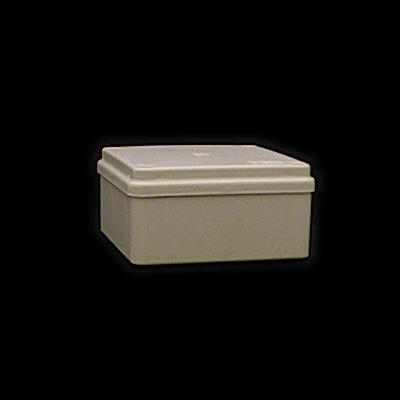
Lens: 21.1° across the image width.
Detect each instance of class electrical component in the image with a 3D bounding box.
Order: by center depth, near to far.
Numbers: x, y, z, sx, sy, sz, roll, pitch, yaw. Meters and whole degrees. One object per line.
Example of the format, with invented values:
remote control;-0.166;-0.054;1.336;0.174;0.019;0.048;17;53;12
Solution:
electrical component;0.000;0.000;0.645;0.109;0.056;0.107;-2;10;-16
